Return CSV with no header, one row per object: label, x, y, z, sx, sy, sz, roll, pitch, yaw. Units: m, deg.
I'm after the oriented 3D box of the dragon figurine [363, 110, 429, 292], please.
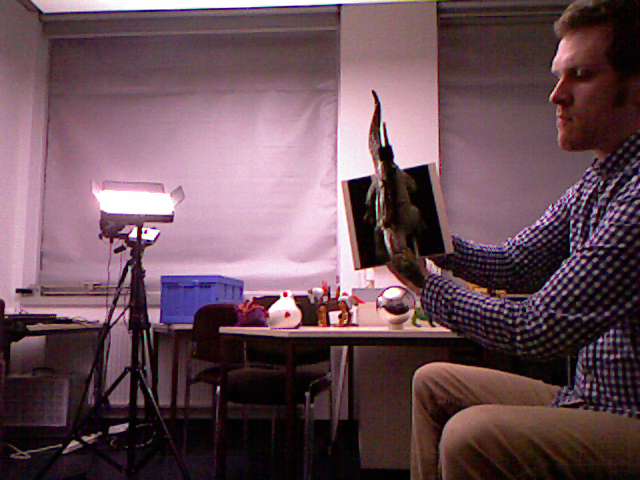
dragon figurine,0.131,-0.101,0.961,0.122,0.417,0.241,-13,-15,4
